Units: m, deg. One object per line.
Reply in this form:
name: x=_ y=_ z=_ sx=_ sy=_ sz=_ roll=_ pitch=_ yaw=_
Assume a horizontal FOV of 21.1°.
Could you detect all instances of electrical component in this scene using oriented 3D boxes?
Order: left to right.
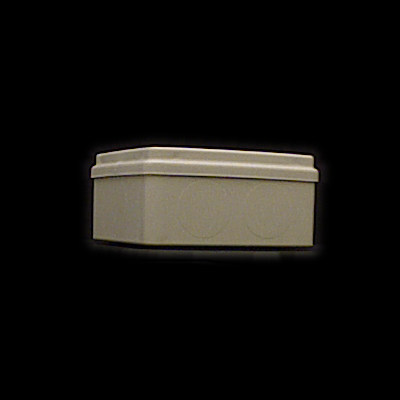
electrical component: x=0.000 y=0.000 z=0.651 sx=0.109 sy=0.056 sz=0.108 roll=2 pitch=0 yaw=-24
